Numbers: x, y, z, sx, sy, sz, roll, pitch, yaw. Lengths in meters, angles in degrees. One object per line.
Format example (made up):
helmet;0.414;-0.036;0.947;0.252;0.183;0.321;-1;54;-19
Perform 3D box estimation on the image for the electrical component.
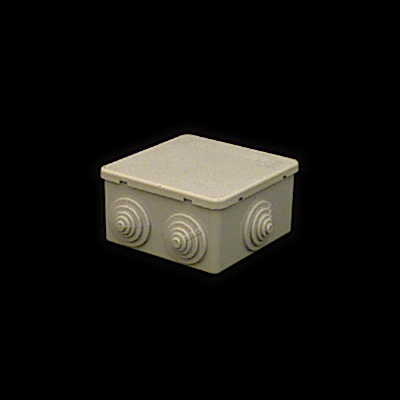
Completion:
electrical component;0.000;0.000;0.649;0.098;0.049;0.100;16;26;32
